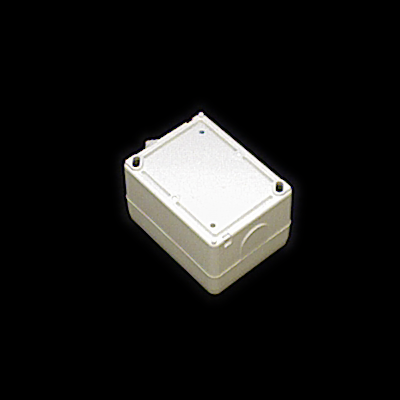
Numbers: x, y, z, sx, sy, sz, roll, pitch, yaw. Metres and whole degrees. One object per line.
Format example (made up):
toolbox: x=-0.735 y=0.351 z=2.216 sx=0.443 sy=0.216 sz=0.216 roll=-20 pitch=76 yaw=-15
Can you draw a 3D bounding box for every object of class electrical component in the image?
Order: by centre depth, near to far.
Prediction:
electrical component: x=0.000 y=0.000 z=0.630 sx=0.062 sy=0.061 sz=0.095 roll=-35 pitch=60 yaw=-24
